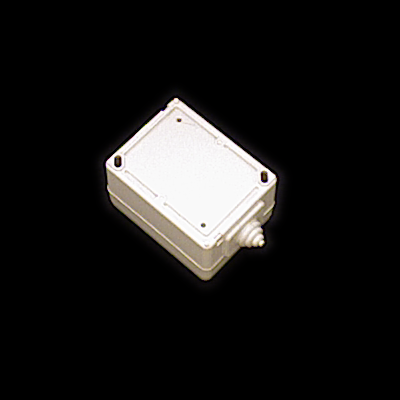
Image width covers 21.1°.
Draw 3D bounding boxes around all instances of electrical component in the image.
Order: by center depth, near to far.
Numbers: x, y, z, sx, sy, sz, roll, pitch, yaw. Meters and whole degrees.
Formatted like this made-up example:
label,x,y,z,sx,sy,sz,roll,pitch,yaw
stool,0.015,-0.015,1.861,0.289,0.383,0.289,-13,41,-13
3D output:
label,x,y,z,sx,sy,sz,roll,pitch,yaw
electrical component,0.000,0.000,0.626,0.096,0.062,0.060,39,-21,17
